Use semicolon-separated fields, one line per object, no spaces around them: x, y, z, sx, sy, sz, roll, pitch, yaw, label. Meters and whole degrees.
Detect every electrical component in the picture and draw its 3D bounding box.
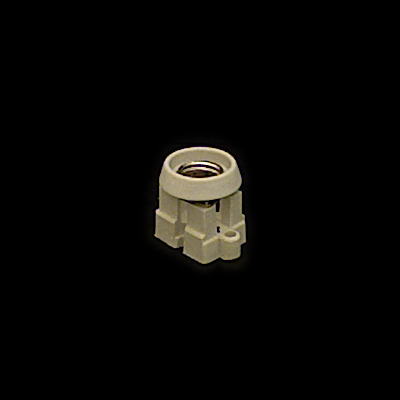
0.000;0.000;0.643;0.065;0.056;0.048;27;39;35;electrical component
